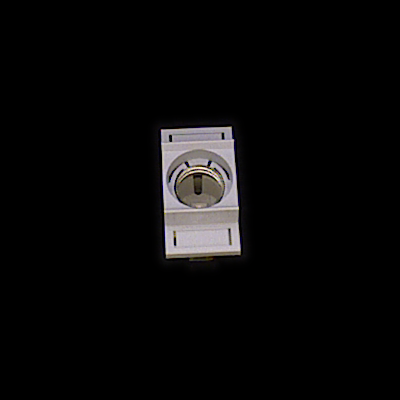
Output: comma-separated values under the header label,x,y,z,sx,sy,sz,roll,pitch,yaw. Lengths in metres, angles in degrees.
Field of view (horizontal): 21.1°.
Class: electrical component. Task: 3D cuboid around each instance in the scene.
label,x,y,z,sx,sy,sz,roll,pitch,yaw
electrical component,0.000,0.000,0.623,0.042,0.081,0.063,-2,-27,-2
